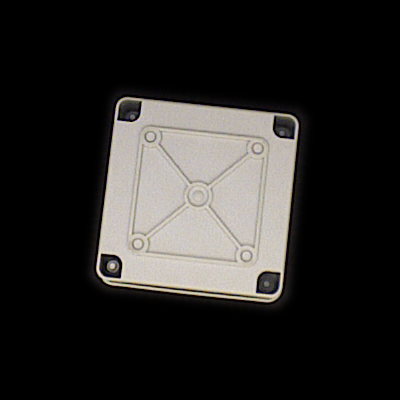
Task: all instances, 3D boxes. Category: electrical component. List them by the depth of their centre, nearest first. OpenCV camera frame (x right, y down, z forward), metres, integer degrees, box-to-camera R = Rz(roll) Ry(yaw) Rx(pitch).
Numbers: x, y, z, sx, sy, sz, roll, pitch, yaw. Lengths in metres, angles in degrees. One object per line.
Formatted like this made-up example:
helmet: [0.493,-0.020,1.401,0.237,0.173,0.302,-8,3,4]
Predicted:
electrical component: [0.000,0.000,0.628,0.109,0.109,0.056,6,-7,1]
